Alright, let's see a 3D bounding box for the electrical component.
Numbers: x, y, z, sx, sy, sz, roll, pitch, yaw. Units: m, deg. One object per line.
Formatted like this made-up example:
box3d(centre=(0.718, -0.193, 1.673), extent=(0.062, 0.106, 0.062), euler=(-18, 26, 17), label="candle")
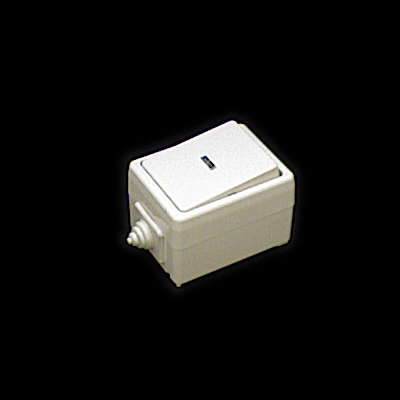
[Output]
box3d(centre=(0.000, 0.000, 0.629), extent=(0.096, 0.061, 0.061), euler=(-21, 46, -22), label="electrical component")
